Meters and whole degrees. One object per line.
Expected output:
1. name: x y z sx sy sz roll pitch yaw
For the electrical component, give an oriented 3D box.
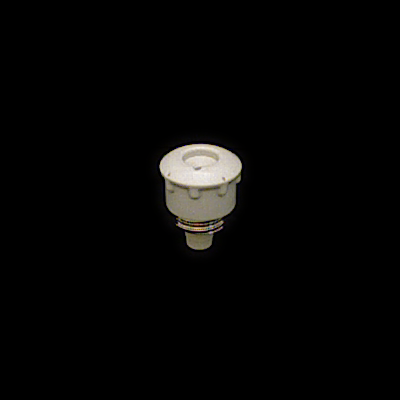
1. electrical component: 0.000 0.000 0.641 0.048 0.063 0.047 1 32 0
